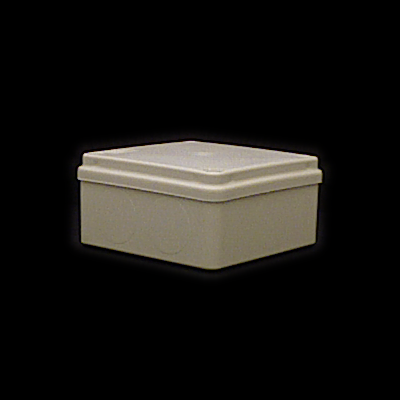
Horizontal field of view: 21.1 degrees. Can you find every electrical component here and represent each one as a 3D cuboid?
[{"bbox_3d":[0.000,0.000,0.645,0.108,0.056,0.108,10,13,38],"label":"electrical component"}]
